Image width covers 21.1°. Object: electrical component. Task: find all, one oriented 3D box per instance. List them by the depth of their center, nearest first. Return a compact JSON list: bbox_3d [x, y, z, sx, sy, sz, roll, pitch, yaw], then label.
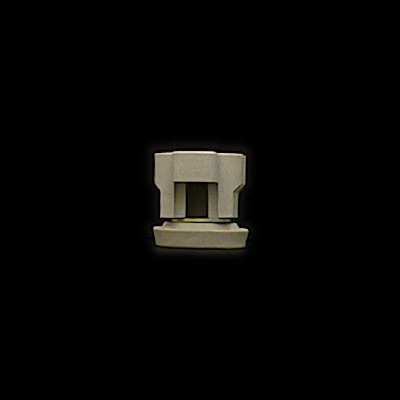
[{"bbox_3d":[0.000,0.000,0.658,0.058,0.057,0.078,1,0,5],"label":"electrical component"}]
